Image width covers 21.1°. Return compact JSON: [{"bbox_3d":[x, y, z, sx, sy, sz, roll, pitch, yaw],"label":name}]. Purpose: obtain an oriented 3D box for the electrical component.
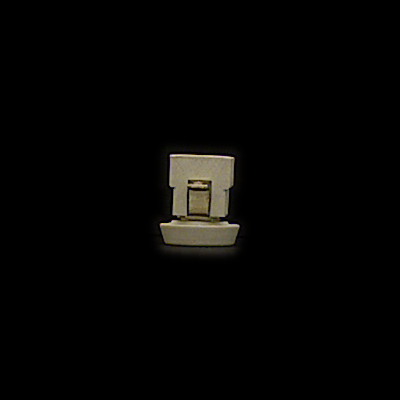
[{"bbox_3d":[0.000,0.000,0.657,0.048,0.055,0.066,3,3,4],"label":"electrical component"}]
